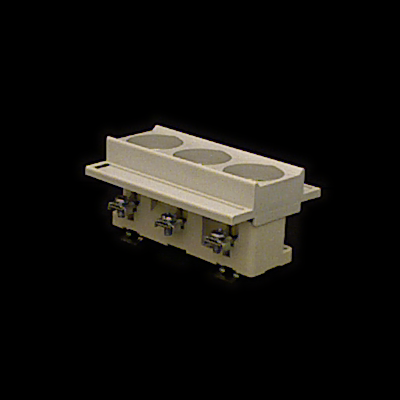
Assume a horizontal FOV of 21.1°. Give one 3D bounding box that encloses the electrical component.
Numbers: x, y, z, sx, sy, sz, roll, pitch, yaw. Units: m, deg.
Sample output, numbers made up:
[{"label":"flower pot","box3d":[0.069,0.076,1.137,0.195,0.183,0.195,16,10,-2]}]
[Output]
[{"label":"electrical component","box3d":[0.000,0.000,0.653,0.120,0.064,0.078,19,27,39]}]
